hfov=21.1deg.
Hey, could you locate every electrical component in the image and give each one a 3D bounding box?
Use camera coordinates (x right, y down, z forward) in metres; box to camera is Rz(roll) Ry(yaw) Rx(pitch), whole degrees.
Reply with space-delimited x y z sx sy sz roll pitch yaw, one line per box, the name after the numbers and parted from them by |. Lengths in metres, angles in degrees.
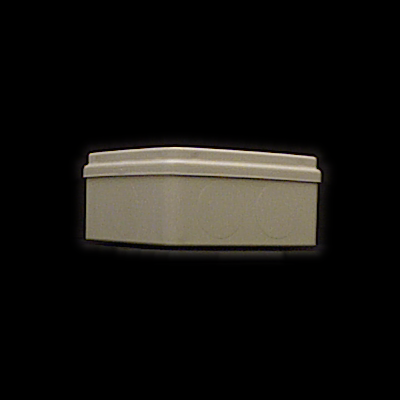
0.000 0.000 0.651 0.109 0.056 0.108 2 0 -34 | electrical component
